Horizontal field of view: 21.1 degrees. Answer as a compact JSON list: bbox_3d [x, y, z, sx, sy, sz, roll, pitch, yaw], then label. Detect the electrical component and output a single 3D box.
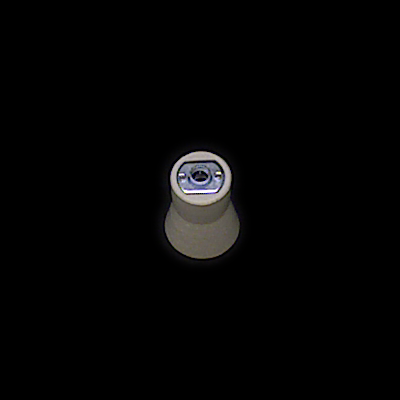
[{"bbox_3d":[0.000,0.000,0.626,0.044,0.044,0.065,0,-28,1],"label":"electrical component"}]
